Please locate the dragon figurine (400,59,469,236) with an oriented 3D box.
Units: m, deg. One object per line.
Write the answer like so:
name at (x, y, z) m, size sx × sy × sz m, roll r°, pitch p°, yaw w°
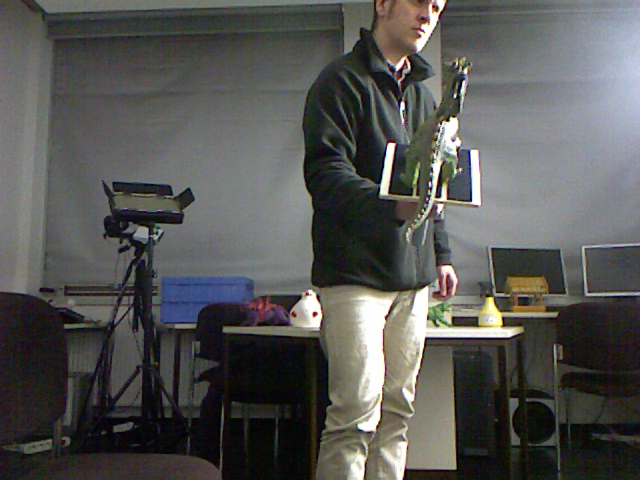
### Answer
dragon figurine at (0.241, -0.223, 1.028) m, size 0.122 × 0.421 × 0.237 m, roll 11°, pitch -42°, yaw 8°
